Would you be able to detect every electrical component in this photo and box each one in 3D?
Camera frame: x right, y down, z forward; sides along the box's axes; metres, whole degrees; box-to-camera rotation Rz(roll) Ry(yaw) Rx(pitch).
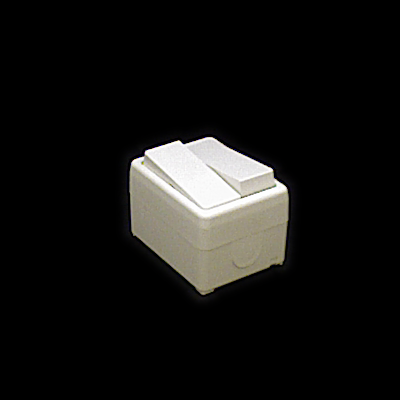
[{"bbox_3d":[0.000,0.000,0.636,0.062,0.061,0.095,-19,37,-29],"label":"electrical component"}]
